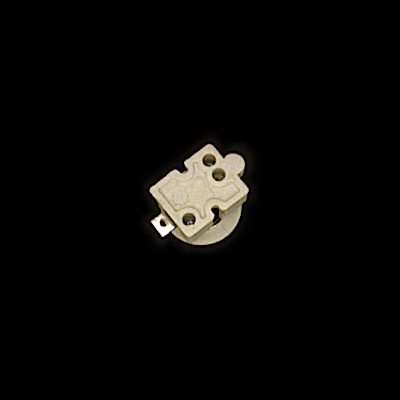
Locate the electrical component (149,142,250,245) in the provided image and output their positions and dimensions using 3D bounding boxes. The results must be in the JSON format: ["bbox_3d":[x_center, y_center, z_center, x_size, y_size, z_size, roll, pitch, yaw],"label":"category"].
[{"bbox_3d":[0.000,0.000,0.638,0.067,0.048,0.055,-37,-12,-9],"label":"electrical component"}]
